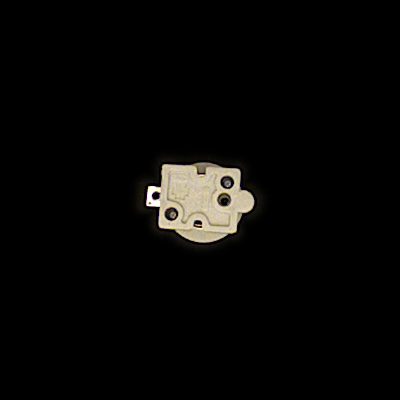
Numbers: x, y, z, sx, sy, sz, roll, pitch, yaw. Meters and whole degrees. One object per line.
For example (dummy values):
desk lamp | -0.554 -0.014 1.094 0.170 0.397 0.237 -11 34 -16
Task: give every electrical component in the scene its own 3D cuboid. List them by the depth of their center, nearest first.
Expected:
electrical component | 0.000 0.000 0.639 0.066 0.048 0.055 4 -4 2
